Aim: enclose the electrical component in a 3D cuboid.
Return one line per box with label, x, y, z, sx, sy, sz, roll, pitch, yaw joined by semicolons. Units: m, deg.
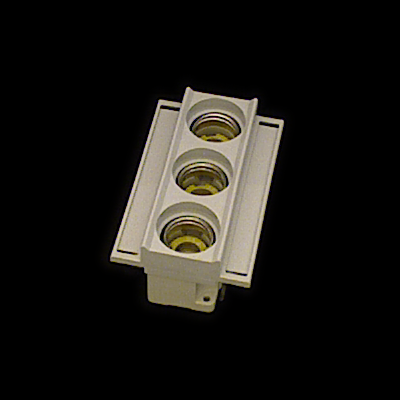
electrical component;0.000;0.000;0.640;0.078;0.120;0.063;10;-36;6
